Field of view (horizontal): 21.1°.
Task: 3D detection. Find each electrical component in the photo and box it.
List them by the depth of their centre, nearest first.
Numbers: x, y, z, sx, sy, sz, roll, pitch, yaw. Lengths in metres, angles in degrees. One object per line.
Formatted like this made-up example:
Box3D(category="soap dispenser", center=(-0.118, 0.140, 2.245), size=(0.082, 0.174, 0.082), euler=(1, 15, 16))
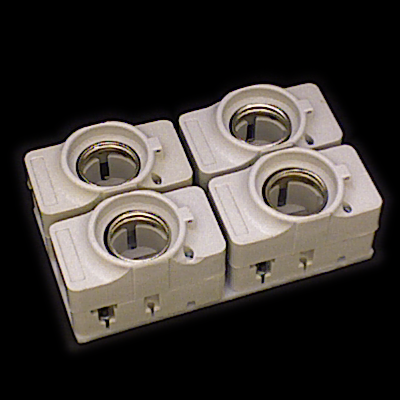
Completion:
Box3D(category="electrical component", center=(0.000, 0.000, 0.628), size=(0.186, 0.105, 0.060), euler=(-15, -36, -12))
